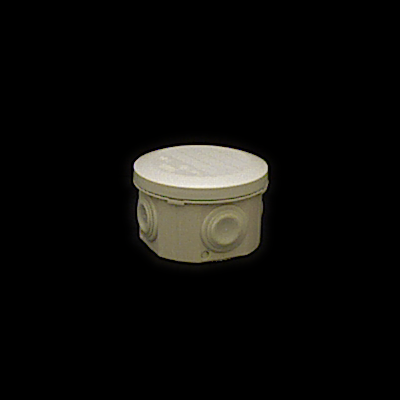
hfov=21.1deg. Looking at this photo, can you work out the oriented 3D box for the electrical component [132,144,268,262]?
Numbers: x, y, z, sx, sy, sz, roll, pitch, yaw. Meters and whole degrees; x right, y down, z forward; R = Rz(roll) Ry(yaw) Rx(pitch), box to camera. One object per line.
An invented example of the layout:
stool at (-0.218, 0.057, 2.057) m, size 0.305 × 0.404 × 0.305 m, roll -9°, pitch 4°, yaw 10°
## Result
electrical component at (0.000, 0.000, 0.642) m, size 0.080 × 0.051 × 0.079 m, roll 1°, pitch 21°, yaw 0°
